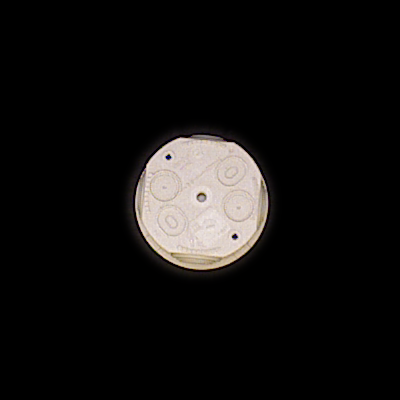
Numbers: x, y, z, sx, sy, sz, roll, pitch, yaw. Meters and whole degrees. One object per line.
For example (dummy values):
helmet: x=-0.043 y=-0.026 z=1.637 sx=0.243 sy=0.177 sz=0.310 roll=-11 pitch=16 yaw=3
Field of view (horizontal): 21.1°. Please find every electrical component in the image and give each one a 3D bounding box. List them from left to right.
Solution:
electrical component: x=0.000 y=0.000 z=0.634 sx=0.080 sy=0.080 sz=0.050 roll=0 pitch=-6 yaw=0
